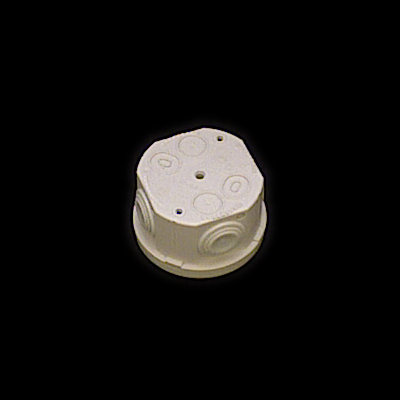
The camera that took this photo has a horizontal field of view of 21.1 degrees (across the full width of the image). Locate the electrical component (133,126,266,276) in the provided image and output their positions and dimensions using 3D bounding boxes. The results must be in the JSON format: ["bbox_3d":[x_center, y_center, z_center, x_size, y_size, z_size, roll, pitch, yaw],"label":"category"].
[{"bbox_3d":[0.000,0.000,0.633,0.080,0.080,0.051,0,-38,-1],"label":"electrical component"}]
